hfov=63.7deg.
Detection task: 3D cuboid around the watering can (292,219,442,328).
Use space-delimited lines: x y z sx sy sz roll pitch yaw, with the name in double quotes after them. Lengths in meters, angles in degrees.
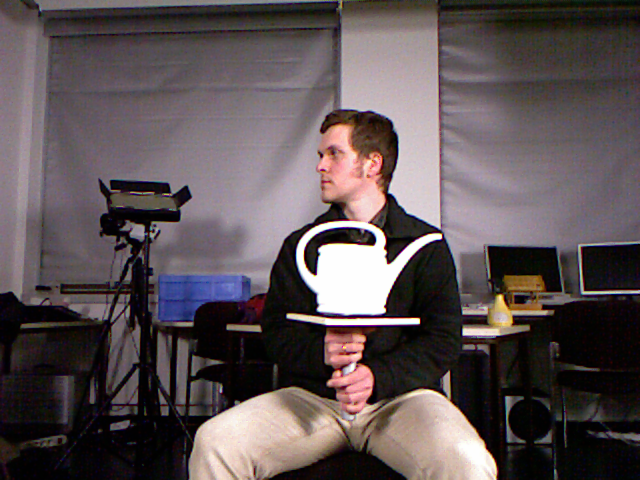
0.107 0.070 1.072 0.348 0.225 0.104 3 -1 -21 "watering can"
